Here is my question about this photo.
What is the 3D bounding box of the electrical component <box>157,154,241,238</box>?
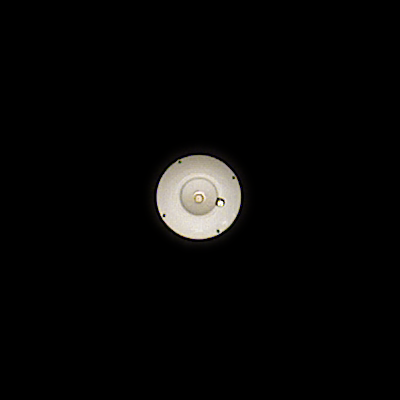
[{"bbox_3d":[0.000,0.000,0.635,0.048,0.048,0.062,0,-6,1],"label":"electrical component"}]
